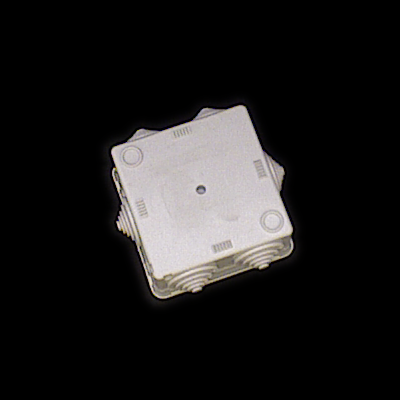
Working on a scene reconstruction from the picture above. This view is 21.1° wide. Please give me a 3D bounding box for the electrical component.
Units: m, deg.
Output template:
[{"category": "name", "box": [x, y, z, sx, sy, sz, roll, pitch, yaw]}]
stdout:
[{"category": "electrical component", "box": [0.000, 0.000, 0.631, 0.100, 0.100, 0.048, -18, -16, -5]}]
